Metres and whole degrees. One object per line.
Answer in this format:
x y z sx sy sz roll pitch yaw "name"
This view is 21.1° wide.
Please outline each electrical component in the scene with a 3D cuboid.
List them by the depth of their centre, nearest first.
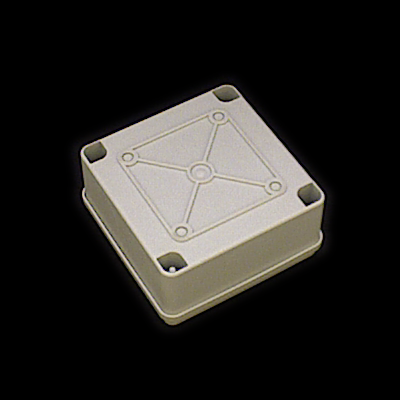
0.000 0.000 0.627 0.109 0.108 0.056 -26 -33 -18 "electrical component"
